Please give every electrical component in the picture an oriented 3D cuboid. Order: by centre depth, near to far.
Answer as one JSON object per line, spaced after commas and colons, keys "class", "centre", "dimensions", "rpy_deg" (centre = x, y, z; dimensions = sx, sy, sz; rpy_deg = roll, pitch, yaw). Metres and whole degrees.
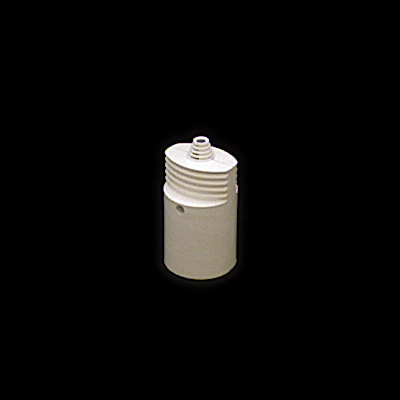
{"class": "electrical component", "centre": [0.000, 0.000, 0.629], "dimensions": [0.043, 0.082, 0.042], "rpy_deg": [1, 31, 0]}
